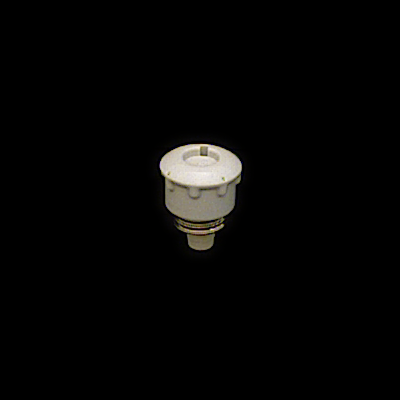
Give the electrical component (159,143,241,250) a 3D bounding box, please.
[{"bbox_3d":[0.000,0.000,0.641,0.048,0.063,0.047,1,32,0],"label":"electrical component"}]
